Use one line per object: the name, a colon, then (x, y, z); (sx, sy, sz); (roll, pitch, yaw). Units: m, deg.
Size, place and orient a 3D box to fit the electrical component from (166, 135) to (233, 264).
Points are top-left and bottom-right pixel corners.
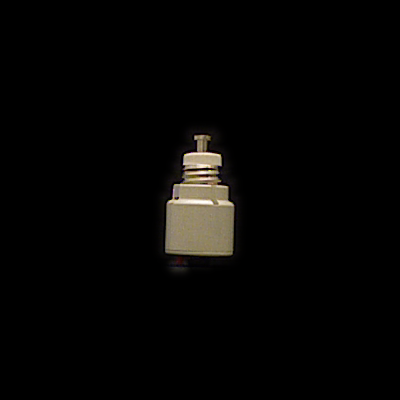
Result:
electrical component: (0.000, 0.000, 0.651); (0.040, 0.078, 0.040); (2, 2, 0)
